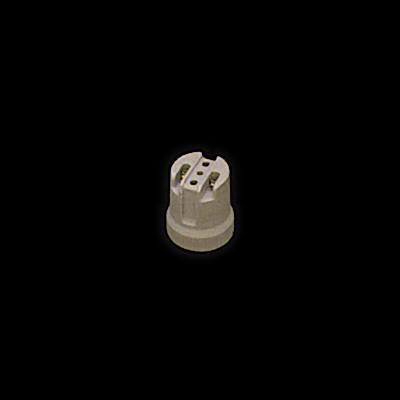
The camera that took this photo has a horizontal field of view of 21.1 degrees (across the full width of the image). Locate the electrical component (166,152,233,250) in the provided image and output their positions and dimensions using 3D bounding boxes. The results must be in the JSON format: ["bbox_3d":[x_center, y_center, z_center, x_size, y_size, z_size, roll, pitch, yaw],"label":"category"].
[{"bbox_3d":[0.000,0.000,0.635,0.040,0.046,0.040,0,42,0],"label":"electrical component"}]
